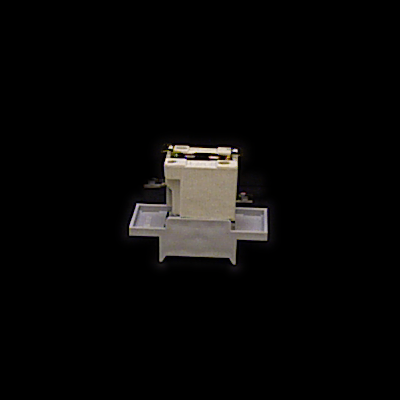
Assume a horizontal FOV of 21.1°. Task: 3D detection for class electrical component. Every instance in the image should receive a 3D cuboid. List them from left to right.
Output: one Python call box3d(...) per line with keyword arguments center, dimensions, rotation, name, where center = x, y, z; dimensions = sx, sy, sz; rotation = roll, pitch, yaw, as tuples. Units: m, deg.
box3d(center=(0.000, 0.000, 0.639), dimensions=(0.081, 0.064, 0.041), rotation=(2, 21, 2), name="electrical component")
